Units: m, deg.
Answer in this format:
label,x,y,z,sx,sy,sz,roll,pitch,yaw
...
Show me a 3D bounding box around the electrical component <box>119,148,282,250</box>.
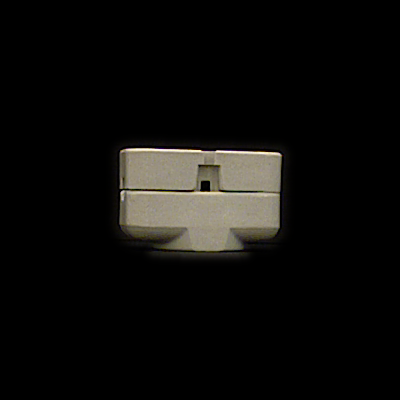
label,x,y,z,sx,sy,sz,roll,pitch,yaw
electrical component,0.000,0.000,0.658,0.096,0.059,0.053,1,1,-13
